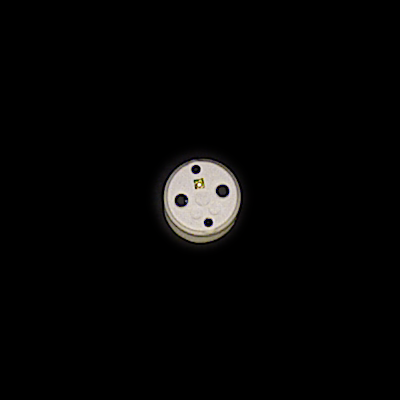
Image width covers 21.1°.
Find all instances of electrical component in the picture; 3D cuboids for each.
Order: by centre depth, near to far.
[{"bbox_3d":[0.000,0.000,0.630,0.045,0.045,0.055,0,-6,0],"label":"electrical component"}]
